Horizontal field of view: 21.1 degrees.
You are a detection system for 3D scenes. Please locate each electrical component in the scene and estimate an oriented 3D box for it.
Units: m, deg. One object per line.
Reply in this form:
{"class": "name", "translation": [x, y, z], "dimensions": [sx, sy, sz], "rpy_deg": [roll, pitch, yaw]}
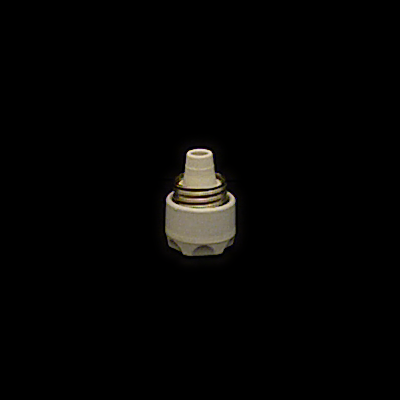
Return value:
{"class": "electrical component", "translation": [0.000, 0.000, 0.646], "dimensions": [0.043, 0.063, 0.043], "rpy_deg": [0, 22, 1]}
